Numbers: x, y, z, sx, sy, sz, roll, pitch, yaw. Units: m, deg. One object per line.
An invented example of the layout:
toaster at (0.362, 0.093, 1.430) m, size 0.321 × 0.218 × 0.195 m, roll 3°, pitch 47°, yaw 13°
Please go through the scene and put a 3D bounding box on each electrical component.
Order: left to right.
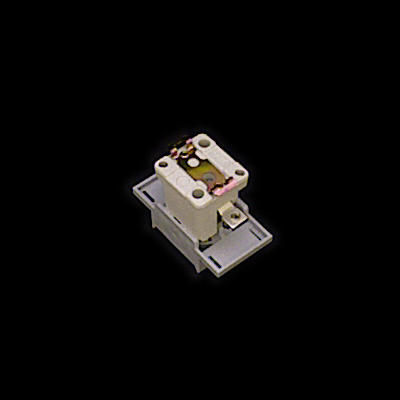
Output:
electrical component at (0.000, 0.000, 0.627) m, size 0.042 × 0.080 × 0.064 m, roll -34°, pitch -30°, yaw -23°
